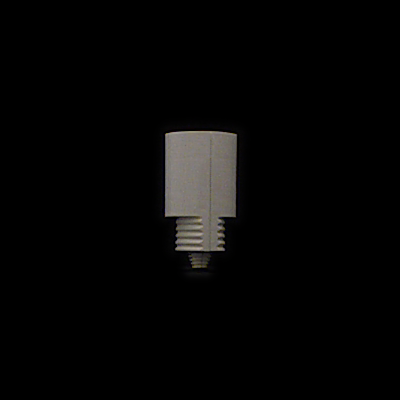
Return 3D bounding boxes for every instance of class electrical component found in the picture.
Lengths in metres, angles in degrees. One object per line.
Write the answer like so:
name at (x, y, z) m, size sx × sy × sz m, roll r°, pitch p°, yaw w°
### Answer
electrical component at (0.000, 0.000, 0.650) m, size 0.043 × 0.081 × 0.043 m, roll 2°, pitch 0°, yaw 0°
